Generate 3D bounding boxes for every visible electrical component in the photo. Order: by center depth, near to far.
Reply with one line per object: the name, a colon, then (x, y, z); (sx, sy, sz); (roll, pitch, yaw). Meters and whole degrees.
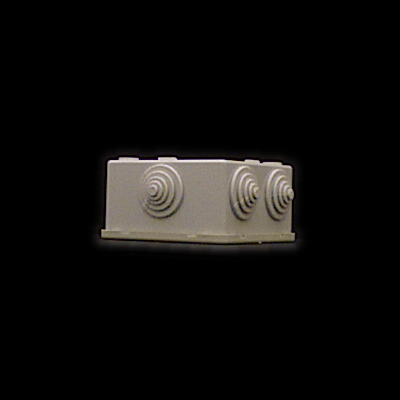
electrical component: (0.000, 0.000, 0.651); (0.099, 0.048, 0.100); (2, 0, 33)
